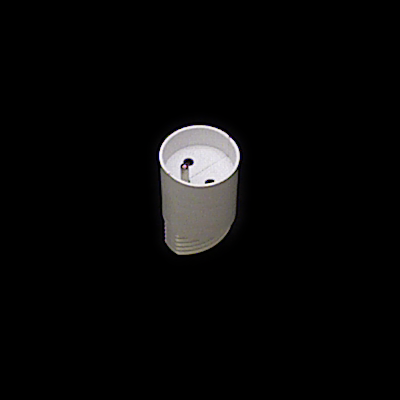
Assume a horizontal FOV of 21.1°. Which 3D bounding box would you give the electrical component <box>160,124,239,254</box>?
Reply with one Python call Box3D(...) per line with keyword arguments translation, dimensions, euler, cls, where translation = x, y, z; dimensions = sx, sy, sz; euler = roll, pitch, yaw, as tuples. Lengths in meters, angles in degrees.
Box3D(translation=(0.000, 0.000, 0.617), dimensions=(0.043, 0.043, 0.081), euler=(0, -38, 1), cls="electrical component")
